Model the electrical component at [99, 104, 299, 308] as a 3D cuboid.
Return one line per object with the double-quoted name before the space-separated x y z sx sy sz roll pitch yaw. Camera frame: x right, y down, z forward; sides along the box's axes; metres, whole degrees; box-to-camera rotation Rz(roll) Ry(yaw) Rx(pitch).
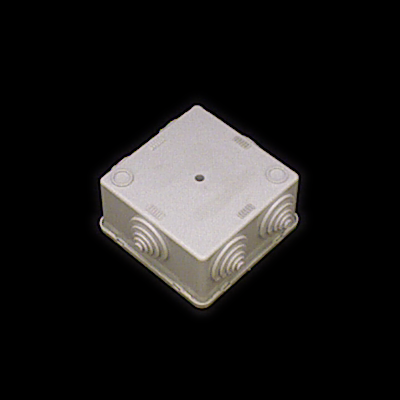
"electrical component" 0.000 0.000 0.633 0.099 0.049 0.100 37 61 24
